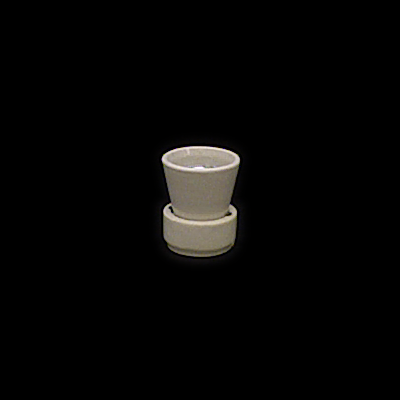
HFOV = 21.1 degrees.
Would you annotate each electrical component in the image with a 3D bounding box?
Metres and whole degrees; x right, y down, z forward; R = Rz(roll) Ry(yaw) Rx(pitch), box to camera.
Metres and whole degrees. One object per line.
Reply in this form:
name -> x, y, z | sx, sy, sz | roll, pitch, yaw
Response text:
electrical component -> 0.000, 0.000, 0.638 | 0.045, 0.056, 0.044 | 0, 22, 0
